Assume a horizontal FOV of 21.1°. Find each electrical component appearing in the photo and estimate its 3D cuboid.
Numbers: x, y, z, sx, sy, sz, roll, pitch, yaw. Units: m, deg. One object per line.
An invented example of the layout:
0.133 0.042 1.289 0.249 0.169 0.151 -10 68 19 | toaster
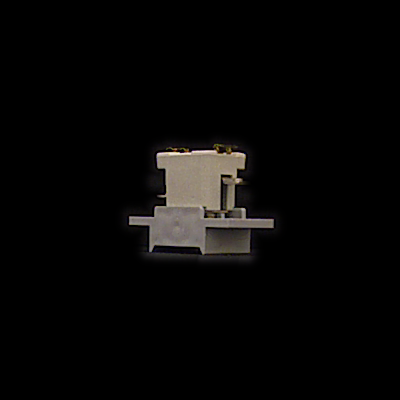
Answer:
0.000 0.000 0.649 0.080 0.064 0.042 2 1 41 | electrical component
